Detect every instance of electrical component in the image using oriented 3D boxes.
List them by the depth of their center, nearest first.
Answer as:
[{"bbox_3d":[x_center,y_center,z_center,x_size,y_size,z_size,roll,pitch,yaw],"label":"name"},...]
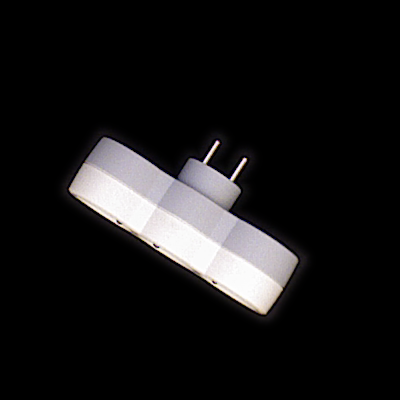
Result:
[{"bbox_3d":[0.000,0.000,0.632,0.138,0.074,0.052,32,-7,4],"label":"electrical component"}]
